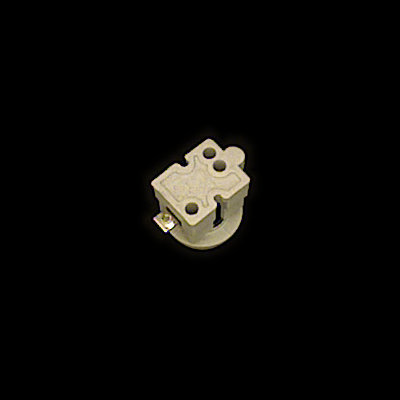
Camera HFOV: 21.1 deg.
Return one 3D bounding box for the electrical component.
[{"bbox_3d":[0.000,0.000,0.638,0.067,0.048,0.055,-38,-20,-16],"label":"electrical component"}]
